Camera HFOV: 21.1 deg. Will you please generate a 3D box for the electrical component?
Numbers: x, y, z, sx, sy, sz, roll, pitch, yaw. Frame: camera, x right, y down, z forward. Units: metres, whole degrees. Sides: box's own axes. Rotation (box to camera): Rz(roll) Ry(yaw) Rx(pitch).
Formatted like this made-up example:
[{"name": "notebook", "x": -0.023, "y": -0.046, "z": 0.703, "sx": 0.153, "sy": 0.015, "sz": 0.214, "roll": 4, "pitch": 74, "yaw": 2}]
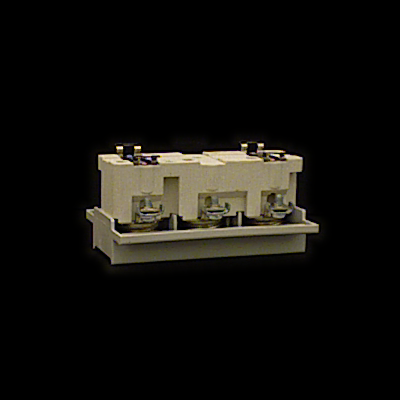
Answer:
[{"name": "electrical component", "x": 0.000, "y": 0.000, "z": 0.649, "sx": 0.122, "sy": 0.063, "sz": 0.077, "roll": -3, "pitch": 12, "yaw": -20}]
